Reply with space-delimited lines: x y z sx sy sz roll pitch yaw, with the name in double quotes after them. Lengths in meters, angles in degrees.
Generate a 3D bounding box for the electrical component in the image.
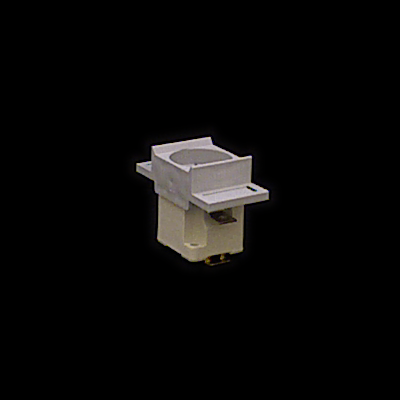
0.000 0.000 0.639 0.042 0.064 0.079 -13 26 -30 "electrical component"
